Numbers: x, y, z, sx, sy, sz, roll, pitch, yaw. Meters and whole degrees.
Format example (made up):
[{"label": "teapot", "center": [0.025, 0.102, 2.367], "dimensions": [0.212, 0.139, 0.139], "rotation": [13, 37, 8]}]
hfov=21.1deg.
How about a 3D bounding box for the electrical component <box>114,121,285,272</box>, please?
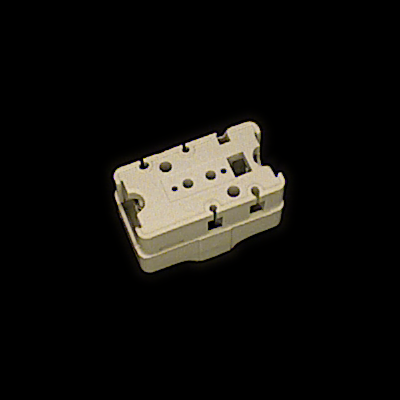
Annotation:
[{"label": "electrical component", "center": [0.000, 0.000, 0.636], "dimensions": [0.090, 0.050, 0.055], "rotation": [-20, -26, -11]}]
